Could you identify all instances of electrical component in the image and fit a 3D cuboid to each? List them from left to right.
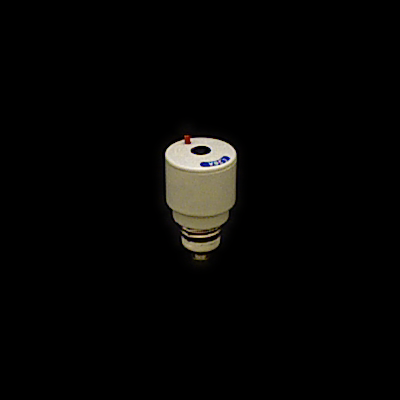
[{"bbox_3d":[0.000,0.000,0.631,0.040,0.079,0.039,0,31,0],"label":"electrical component"}]
